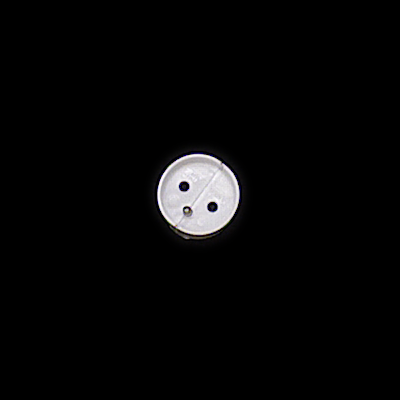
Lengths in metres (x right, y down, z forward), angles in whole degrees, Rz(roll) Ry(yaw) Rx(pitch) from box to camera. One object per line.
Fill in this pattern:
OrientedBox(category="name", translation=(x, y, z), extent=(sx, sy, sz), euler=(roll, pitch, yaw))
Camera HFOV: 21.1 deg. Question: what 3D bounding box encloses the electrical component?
OrientedBox(category="electrical component", translation=(0.000, 0.000, 0.615), extent=(0.043, 0.043, 0.080), euler=(0, -6, 1))
